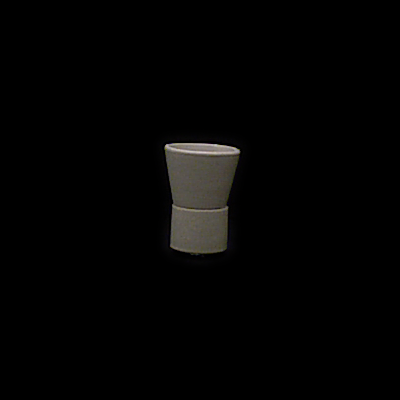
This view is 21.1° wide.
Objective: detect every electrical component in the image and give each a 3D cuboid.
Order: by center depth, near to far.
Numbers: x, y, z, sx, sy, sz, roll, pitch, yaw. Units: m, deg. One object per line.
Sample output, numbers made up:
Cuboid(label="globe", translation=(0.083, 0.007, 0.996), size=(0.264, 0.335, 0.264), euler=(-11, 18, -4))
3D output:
Cuboid(label="electrical component", translation=(0.000, 0.000, 0.645), size=(0.044, 0.066, 0.044), euler=(2, 11, 0))
